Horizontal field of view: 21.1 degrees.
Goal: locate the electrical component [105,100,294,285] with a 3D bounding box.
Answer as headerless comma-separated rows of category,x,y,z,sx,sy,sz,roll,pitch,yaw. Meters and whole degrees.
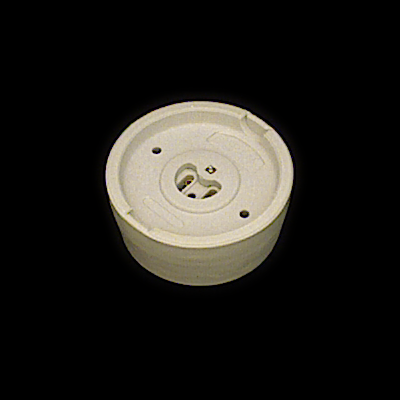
electrical component,0.000,0.000,0.638,0.108,0.107,0.061,0,-37,0
